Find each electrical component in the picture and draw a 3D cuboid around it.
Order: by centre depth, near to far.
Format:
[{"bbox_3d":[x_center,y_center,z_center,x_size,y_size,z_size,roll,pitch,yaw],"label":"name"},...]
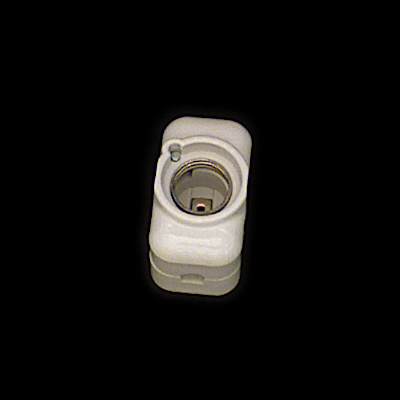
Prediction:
[{"bbox_3d":[0.000,0.000,0.634,0.054,0.095,0.059,5,-27,2],"label":"electrical component"}]
